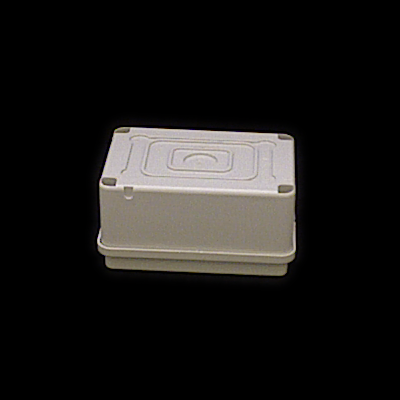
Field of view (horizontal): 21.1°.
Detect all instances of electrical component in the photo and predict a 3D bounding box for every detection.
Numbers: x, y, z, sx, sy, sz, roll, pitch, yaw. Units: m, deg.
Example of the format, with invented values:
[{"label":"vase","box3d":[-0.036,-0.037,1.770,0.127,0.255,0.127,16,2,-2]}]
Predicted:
[{"label":"electrical component","box3d":[0.000,0.000,0.635,0.113,0.058,0.077,3,31,2]}]
